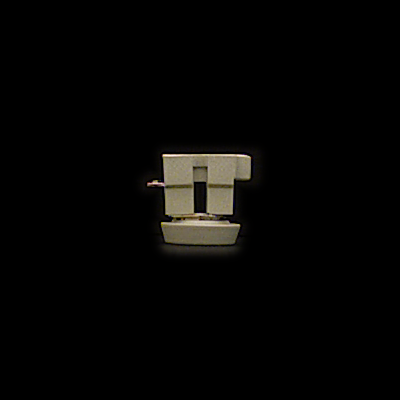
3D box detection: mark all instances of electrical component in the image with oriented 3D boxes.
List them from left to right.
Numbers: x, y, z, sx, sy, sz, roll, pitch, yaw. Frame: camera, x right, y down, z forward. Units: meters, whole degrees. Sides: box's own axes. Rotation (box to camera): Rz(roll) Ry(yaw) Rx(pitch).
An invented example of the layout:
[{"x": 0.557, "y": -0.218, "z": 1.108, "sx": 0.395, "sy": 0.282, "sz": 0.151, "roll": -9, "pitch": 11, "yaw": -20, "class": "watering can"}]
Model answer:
[{"x": 0.000, "y": 0.000, "z": 0.657, "sx": 0.066, "sy": 0.055, "sz": 0.048, "roll": 0, "pitch": 3, "yaw": -2, "class": "electrical component"}]
